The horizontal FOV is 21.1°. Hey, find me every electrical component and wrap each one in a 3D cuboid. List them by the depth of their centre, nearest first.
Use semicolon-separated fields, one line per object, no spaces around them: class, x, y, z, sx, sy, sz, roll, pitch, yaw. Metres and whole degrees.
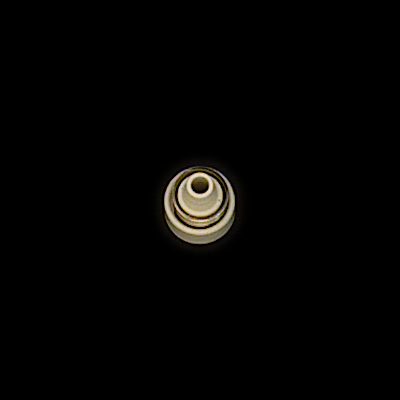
electrical component;0.000;0.000;0.634;0.043;0.043;0.061;0;-17;-1
